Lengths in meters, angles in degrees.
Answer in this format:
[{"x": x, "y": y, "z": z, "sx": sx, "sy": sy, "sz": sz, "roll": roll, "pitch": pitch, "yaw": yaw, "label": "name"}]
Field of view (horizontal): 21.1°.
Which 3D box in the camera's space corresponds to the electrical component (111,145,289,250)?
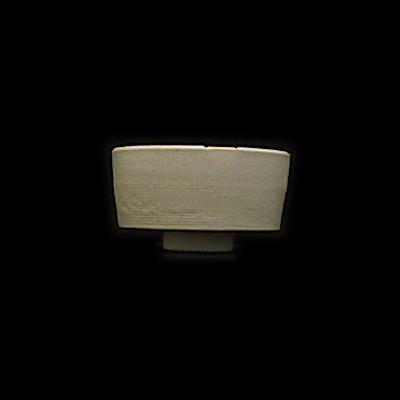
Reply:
[{"x": 0.000, "y": 0.000, "z": 0.654, "sx": 0.108, "sy": 0.060, "sz": 0.108, "roll": 1, "pitch": 0, "yaw": 0, "label": "electrical component"}]
